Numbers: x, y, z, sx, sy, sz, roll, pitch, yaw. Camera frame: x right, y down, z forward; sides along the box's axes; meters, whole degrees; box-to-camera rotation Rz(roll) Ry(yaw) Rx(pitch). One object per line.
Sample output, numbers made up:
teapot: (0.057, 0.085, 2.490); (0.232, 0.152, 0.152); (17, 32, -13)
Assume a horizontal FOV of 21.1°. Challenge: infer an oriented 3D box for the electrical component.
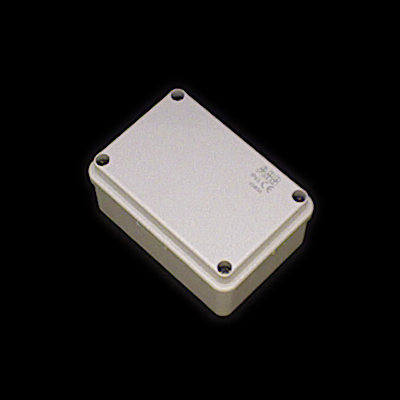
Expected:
electrical component: (0.000, 0.000, 0.628); (0.113, 0.078, 0.057); (41, -20, 18)
